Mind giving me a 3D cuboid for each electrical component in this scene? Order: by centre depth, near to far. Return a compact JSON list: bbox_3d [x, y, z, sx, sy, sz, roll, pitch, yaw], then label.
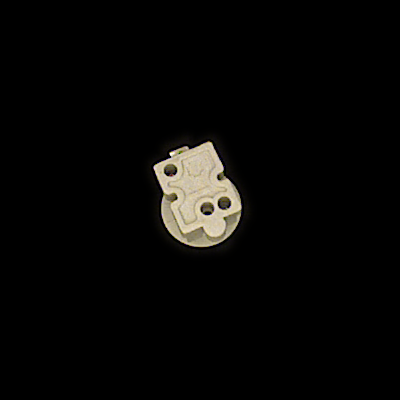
[{"bbox_3d":[0.000,0.000,0.637,0.048,0.066,0.055,-23,-16,-5],"label":"electrical component"}]
